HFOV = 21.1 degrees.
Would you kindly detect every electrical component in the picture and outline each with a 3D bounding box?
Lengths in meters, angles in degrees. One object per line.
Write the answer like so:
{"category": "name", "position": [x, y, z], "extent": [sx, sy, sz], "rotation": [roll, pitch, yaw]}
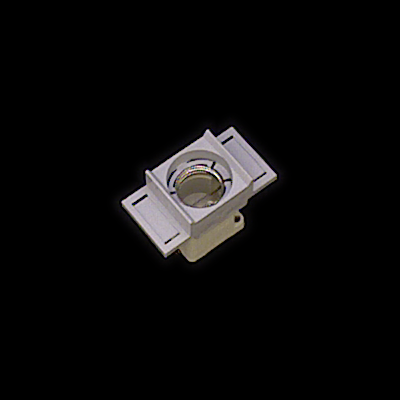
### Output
{"category": "electrical component", "position": [0.000, 0.000, 0.625], "extent": [0.081, 0.042, 0.064], "rotation": [-34, -23, -16]}
